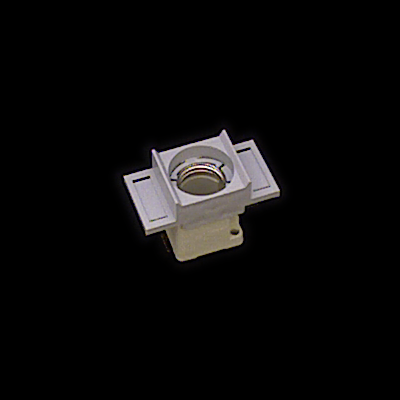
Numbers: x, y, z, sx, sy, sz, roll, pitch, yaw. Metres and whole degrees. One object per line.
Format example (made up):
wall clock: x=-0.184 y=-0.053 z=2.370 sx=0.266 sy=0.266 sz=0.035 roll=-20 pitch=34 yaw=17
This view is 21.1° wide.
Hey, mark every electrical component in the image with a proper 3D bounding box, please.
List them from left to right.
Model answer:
electrical component: x=0.000 y=0.000 z=0.627 sx=0.081 sy=0.042 sz=0.064 roll=-16 pitch=-37 yaw=-12
